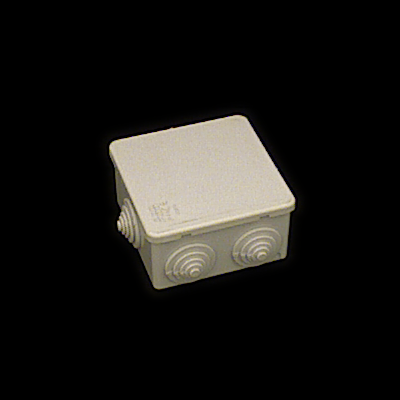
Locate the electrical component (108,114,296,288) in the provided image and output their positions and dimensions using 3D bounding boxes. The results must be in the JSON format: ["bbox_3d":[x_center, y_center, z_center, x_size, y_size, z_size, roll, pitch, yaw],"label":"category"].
[{"bbox_3d":[0.000,0.000,0.641,0.100,0.049,0.098,-13,44,-15],"label":"electrical component"}]
